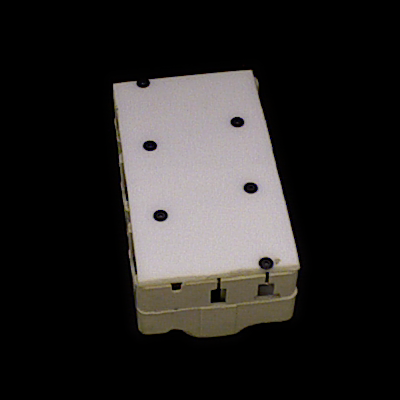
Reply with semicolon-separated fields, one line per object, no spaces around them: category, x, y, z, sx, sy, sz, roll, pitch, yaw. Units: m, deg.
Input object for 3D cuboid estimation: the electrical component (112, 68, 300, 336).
electrical component;0.000;0.000;0.634;0.090;0.147;0.062;-6;-38;-5
